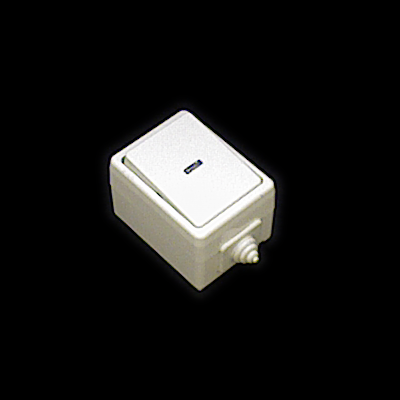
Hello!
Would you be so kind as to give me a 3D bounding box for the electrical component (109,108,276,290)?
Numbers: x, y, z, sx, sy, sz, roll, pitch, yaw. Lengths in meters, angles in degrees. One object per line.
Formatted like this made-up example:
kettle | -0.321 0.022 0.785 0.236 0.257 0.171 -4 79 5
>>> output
electrical component | 0.000 0.000 0.626 0.062 0.061 0.096 -36 61 -25
